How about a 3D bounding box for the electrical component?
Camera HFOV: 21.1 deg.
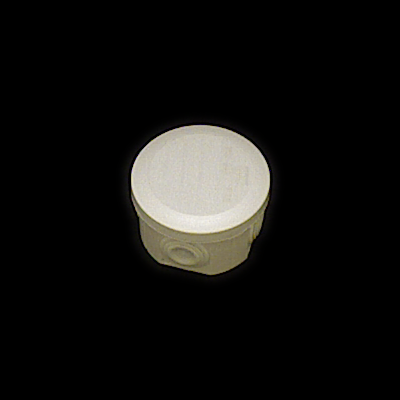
[{"bbox_3d":[0.000,0.000,0.630,0.080,0.080,0.051,0,-38,0],"label":"electrical component"}]
